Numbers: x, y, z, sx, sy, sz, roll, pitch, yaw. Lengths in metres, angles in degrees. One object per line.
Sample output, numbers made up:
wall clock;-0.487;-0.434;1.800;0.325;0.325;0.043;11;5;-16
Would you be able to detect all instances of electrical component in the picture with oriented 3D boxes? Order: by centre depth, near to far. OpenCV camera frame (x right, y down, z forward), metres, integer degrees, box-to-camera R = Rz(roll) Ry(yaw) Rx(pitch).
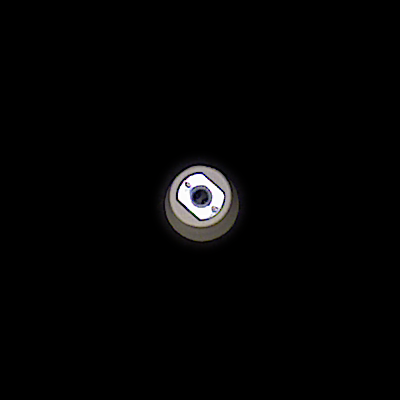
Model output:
electrical component;0.000;0.000;0.626;0.044;0.044;0.065;0;-5;1
